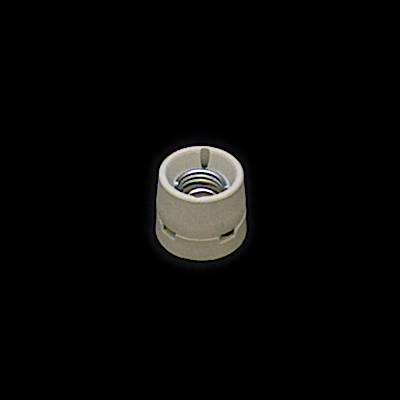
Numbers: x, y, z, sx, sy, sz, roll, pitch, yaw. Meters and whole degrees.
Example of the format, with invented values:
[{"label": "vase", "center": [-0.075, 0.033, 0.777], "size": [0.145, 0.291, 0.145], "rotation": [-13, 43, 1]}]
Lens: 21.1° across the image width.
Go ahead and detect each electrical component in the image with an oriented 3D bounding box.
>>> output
[{"label": "electrical component", "center": [0.000, 0.000, 0.635], "size": [0.055, 0.047, 0.055], "rotation": [0, 43, 0]}]
